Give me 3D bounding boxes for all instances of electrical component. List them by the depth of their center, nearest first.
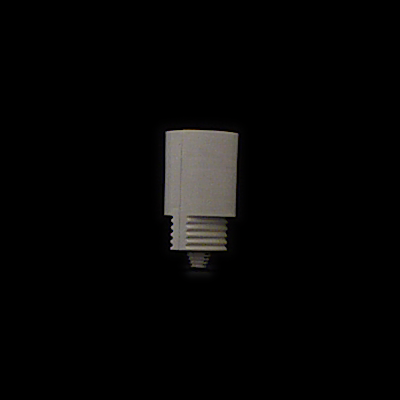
[{"bbox_3d":[0.000,0.000,0.647,0.043,0.081,0.043,0,1,0],"label":"electrical component"}]
